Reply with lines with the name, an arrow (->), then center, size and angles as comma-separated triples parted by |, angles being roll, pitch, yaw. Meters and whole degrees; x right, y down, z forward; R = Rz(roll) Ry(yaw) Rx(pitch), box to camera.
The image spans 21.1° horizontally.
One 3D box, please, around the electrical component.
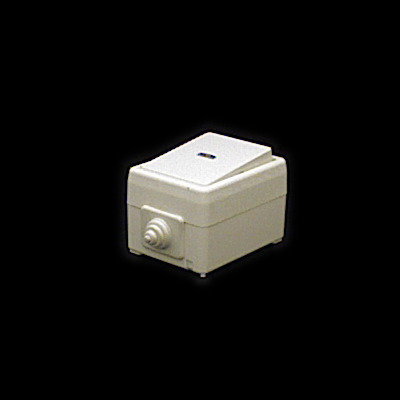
electrical component -> 0.000, 0.000, 0.637 | 0.061, 0.061, 0.096 | 17, 26, 36
